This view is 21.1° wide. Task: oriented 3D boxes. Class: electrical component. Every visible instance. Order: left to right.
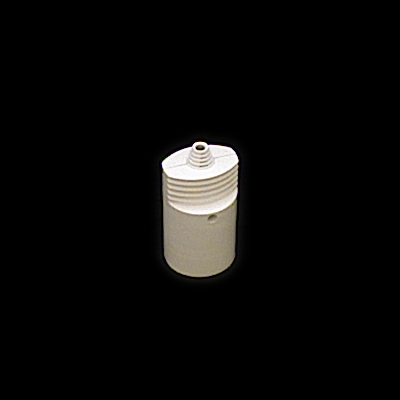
[{"bbox_3d":[0.000,0.000,0.623,0.043,0.082,0.042,0,42,0],"label":"electrical component"}]
